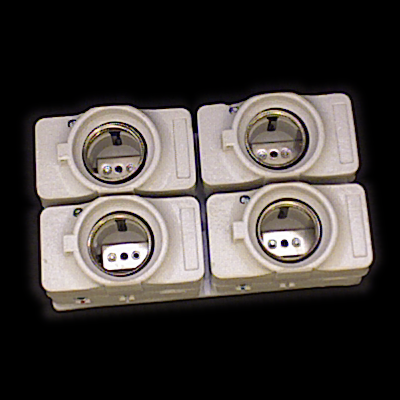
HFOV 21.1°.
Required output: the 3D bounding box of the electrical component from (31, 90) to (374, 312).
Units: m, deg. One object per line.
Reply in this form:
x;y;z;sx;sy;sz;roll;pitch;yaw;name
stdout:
0.000;0.000;0.625;0.186;0.106;0.060;-5;-17;-1;electrical component
